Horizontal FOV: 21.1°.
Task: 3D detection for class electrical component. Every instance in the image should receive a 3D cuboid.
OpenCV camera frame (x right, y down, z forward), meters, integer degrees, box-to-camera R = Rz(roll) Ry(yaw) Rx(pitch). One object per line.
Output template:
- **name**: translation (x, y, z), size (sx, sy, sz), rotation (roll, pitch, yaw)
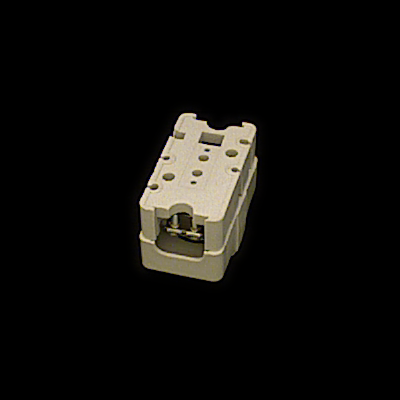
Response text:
- **electrical component**: translation (0.000, 0.000, 0.639), size (0.050, 0.056, 0.089), rotation (10, 43, 11)
